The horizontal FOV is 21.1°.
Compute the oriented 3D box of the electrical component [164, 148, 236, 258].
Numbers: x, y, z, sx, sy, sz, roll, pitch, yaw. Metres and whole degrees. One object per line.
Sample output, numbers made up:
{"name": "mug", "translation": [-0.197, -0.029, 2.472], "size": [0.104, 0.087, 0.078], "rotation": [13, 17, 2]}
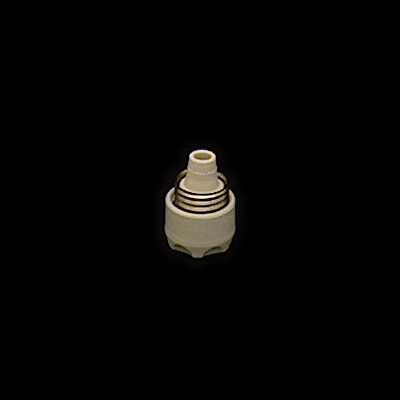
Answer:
{"name": "electrical component", "translation": [0.000, 0.000, 0.641], "size": [0.043, 0.063, 0.043], "rotation": [2, 32, -1]}
